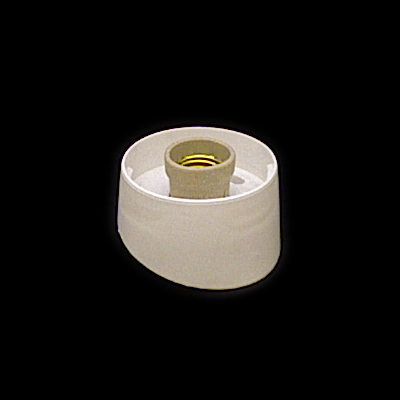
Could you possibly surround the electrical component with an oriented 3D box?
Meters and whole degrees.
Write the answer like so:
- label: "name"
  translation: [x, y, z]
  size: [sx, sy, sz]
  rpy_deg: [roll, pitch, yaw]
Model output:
- label: "electrical component"
  translation: [0.000, 0.000, 0.633]
  size: [0.099, 0.065, 0.097]
  rpy_deg: [1, 31, 0]
